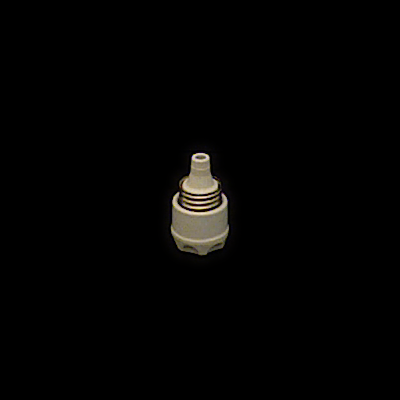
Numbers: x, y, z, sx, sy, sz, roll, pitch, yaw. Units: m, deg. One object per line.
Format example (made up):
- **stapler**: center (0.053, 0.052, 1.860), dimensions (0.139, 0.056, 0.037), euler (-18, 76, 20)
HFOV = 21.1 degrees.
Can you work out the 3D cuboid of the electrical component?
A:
- **electrical component**: center (0.000, 0.000, 0.646), dimensions (0.035, 0.062, 0.034), euler (1, 31, 0)
